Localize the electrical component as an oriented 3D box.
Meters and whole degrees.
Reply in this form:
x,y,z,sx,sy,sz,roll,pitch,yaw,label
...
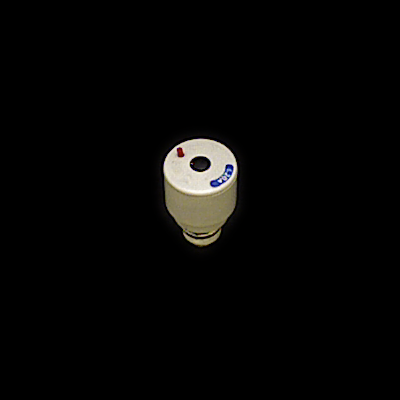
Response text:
x,y,z,sx,sy,sz,roll,pitch,yaw,label
0.000,0.000,0.621,0.040,0.040,0.079,0,-38,0,electrical component
